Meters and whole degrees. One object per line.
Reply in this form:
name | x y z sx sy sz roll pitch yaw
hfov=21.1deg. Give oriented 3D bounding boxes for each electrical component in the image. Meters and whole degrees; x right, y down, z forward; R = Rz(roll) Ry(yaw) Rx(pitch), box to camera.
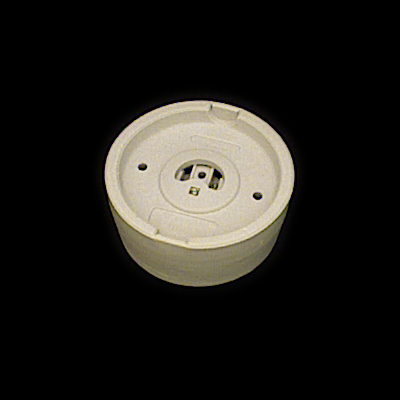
electrical component | 0.000 0.000 0.633 0.108 0.107 0.060 0 -37 -1
